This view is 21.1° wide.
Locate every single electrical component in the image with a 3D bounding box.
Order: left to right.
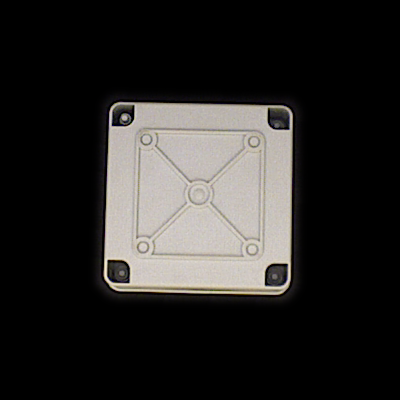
[{"bbox_3d":[0.000,0.000,0.629,0.109,0.109,0.056,1,-7,0],"label":"electrical component"}]
